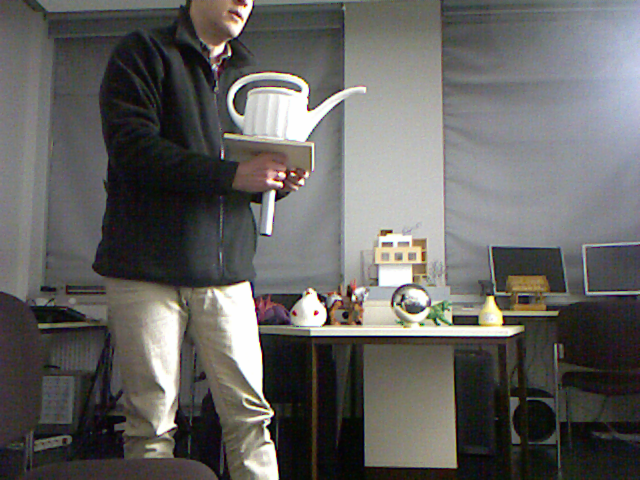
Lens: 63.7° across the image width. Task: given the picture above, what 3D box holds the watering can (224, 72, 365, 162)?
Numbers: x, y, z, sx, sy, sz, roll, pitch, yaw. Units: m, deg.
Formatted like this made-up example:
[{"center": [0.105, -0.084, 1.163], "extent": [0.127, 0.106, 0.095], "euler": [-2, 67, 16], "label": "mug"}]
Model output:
[{"center": [-0.070, -0.304, 1.281], "extent": [0.348, 0.225, 0.104], "euler": [6, -4, 3], "label": "watering can"}]
